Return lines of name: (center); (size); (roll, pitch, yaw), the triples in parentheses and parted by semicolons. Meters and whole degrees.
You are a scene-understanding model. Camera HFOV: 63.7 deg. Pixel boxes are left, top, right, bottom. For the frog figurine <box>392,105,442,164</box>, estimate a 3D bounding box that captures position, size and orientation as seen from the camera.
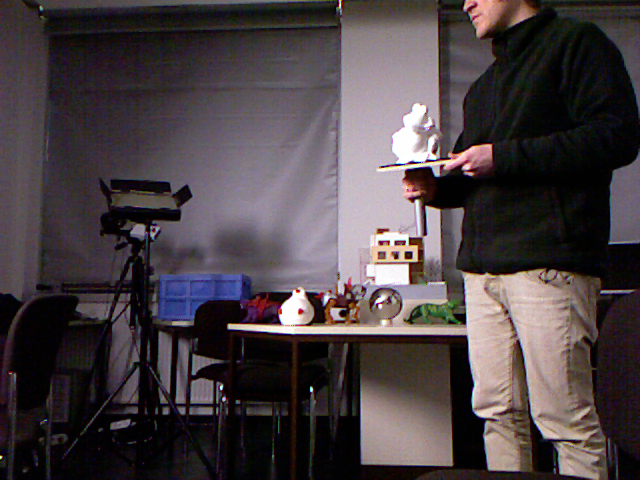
frog figurine: (0.267, -0.295, 1.435); (0.137, 0.158, 0.124); (0, 14, 32)
